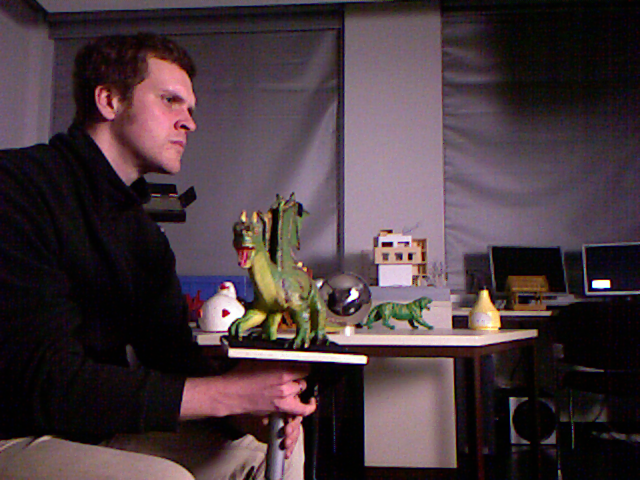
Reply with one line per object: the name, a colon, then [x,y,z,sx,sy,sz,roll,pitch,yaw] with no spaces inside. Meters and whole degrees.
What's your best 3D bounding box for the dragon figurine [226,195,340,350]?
dragon figurine: [-0.041,0.048,0.851,0.122,0.244,0.409,2,-5,21]
